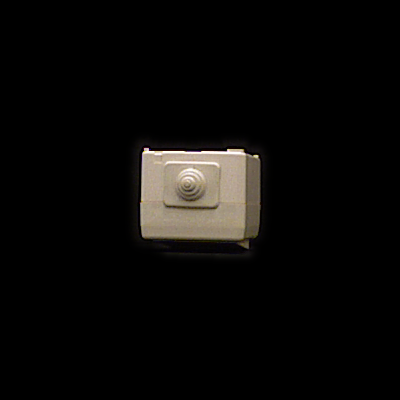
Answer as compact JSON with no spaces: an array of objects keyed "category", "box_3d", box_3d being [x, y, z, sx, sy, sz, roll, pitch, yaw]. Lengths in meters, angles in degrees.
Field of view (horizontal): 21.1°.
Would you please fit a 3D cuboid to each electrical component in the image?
[{"category":"electrical component","box_3d":[0.000,0.000,0.649,0.061,0.061,0.096,1,1,9]}]
